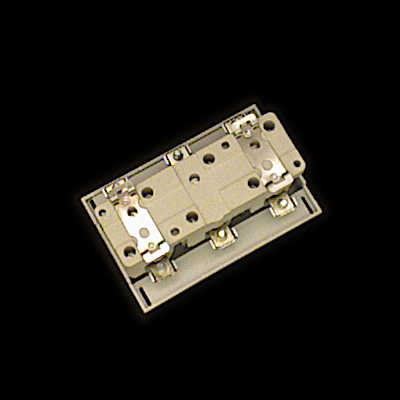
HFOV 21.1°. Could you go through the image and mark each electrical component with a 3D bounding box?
[{"bbox_3d":[0.000,0.000,0.633,0.122,0.079,0.062,-29,-14,-8],"label":"electrical component"}]
